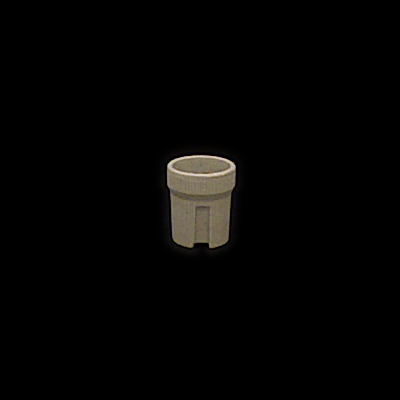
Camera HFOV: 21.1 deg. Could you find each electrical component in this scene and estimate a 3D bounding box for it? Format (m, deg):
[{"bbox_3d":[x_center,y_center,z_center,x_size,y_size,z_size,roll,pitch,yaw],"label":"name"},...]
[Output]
[{"bbox_3d":[0.000,0.000,0.642,0.040,0.047,0.039,1,21,0],"label":"electrical component"}]
